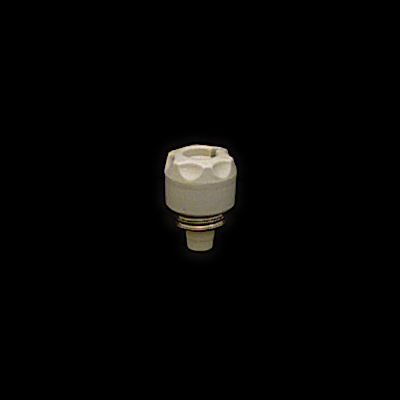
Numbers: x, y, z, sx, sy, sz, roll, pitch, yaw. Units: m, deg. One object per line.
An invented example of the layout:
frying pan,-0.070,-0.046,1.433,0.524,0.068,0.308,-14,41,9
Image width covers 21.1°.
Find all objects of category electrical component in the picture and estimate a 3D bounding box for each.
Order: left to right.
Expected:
electrical component,0.000,0.000,0.645,0.043,0.063,0.043,1,23,0
